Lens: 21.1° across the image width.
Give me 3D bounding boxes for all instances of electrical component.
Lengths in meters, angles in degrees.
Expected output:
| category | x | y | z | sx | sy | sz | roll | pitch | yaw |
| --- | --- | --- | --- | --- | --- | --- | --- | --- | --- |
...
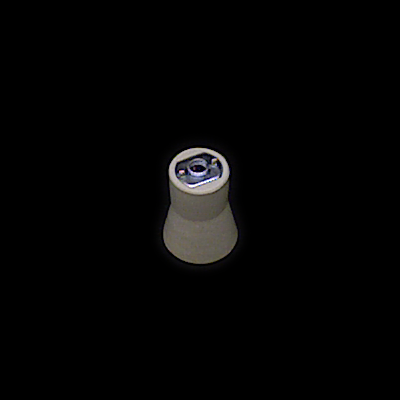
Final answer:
| category | x | y | z | sx | sy | sz | roll | pitch | yaw |
| --- | --- | --- | --- | --- | --- | --- | --- | --- | --- |
| electrical component | 0.000 | 0.000 | 0.628 | 0.044 | 0.044 | 0.065 | 0 | -39 | 0 |
